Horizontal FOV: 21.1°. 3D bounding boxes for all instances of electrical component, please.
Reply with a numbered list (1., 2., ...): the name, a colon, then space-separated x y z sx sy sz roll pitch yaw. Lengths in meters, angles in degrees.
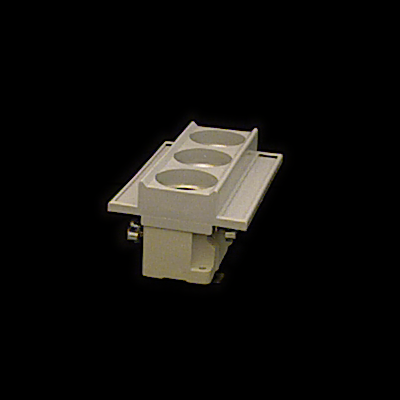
1. electrical component: 0.000 0.000 0.652 0.078 0.064 0.120 7 22 12
